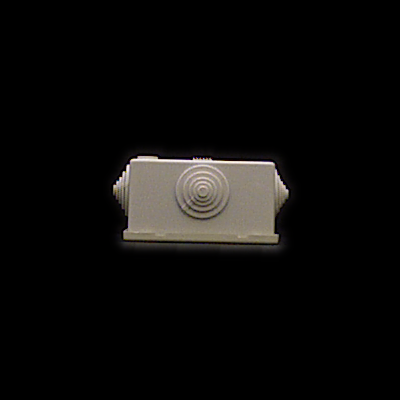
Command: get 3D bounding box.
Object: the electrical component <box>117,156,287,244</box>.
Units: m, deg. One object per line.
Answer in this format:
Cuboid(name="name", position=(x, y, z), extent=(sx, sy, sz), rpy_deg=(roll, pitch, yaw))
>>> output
Cuboid(name="electrical component", position=(0.000, 0.000, 0.650), extent=(0.100, 0.048, 0.099), rpy_deg=(1, 0, -2))
